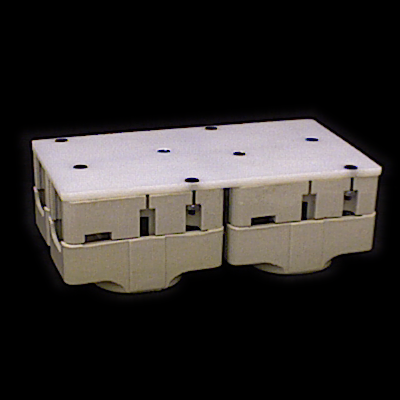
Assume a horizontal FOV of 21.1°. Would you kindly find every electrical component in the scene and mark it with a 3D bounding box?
[{"bbox_3d":[0.000,0.000,0.638,0.186,0.061,0.104,-5,21,-17],"label":"electrical component"}]
